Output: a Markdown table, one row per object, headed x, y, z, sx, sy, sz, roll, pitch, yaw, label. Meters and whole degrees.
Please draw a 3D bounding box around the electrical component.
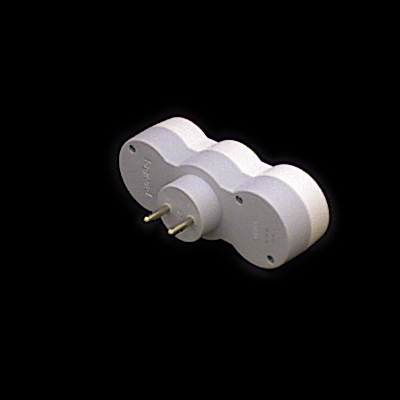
| x | y | z | sx | sy | sz | roll | pitch | yaw | label |
| --- | --- | --- | --- | --- | --- | --- | --- | --- | --- |
| 0.000 | 0.000 | 0.635 | 0.137 | 0.053 | 0.073 | 26 | 42 | 34 | electrical component |
